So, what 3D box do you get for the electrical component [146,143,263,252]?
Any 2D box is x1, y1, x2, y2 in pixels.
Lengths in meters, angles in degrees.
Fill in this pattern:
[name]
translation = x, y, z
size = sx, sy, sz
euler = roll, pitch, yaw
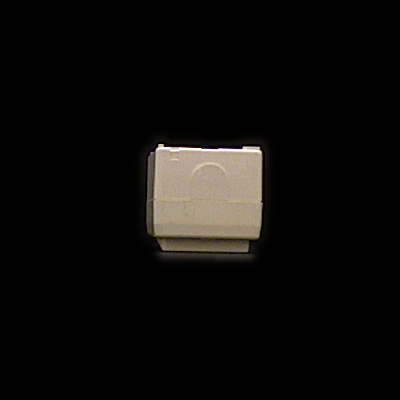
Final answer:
[electrical component]
translation = 0.000, 0.000, 0.651
size = 0.062, 0.061, 0.096
euler = 1, -1, -6
